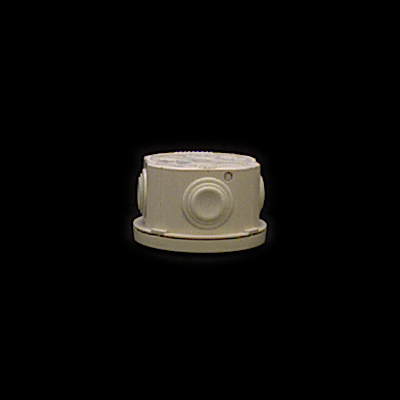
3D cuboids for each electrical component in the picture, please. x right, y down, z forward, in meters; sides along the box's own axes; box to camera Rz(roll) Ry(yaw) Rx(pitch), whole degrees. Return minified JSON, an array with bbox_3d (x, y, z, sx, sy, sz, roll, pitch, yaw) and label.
[{"bbox_3d":[0.000,0.000,0.644,0.080,0.051,0.079,1,11,0],"label":"electrical component"}]
